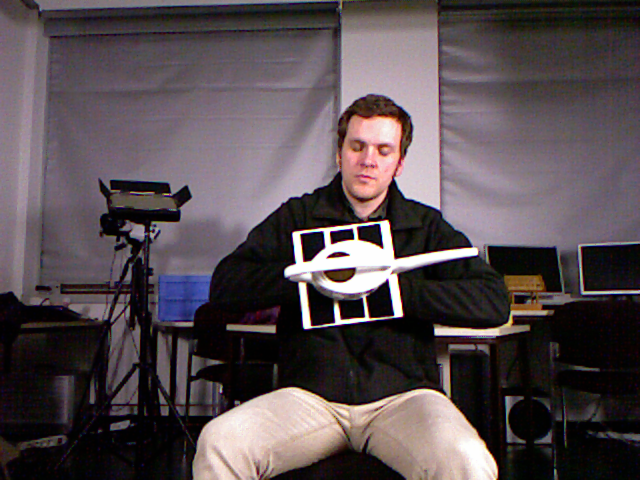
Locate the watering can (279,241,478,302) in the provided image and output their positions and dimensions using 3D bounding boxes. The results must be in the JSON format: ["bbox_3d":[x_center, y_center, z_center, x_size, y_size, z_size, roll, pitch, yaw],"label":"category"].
[{"bbox_3d":[0.100,0.057,0.972,0.349,0.105,0.223,-4,-11,-2],"label":"watering can"}]
